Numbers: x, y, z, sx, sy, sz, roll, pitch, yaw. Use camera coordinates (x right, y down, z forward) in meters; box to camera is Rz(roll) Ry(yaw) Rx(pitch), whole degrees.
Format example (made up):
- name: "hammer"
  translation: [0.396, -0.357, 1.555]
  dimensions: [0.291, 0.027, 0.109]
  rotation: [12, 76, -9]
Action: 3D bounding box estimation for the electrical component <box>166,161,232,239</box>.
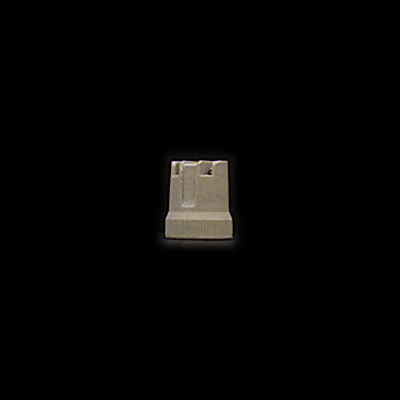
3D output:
- name: "electrical component"
  translation: [0.000, 0.000, 0.649]
  dimensions: [0.040, 0.046, 0.040]
  rotation: [1, 1, 0]
